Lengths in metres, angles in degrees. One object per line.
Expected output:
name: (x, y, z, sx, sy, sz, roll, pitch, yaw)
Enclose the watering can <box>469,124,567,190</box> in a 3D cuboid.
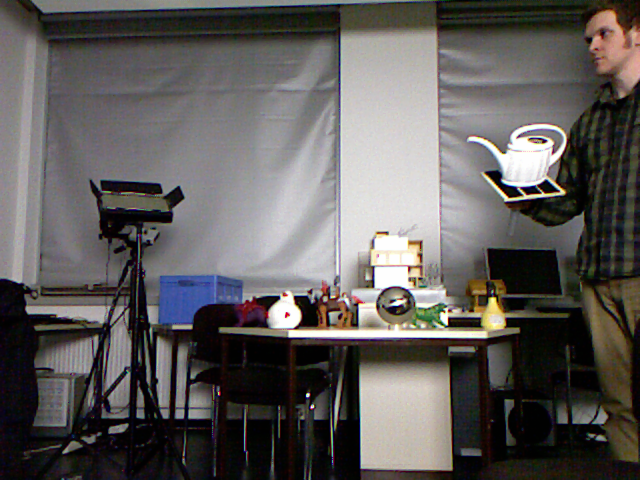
watering can: (0.638, -0.267, 1.684, 0.348, 0.219, 0.106, -8, 34, -8)
